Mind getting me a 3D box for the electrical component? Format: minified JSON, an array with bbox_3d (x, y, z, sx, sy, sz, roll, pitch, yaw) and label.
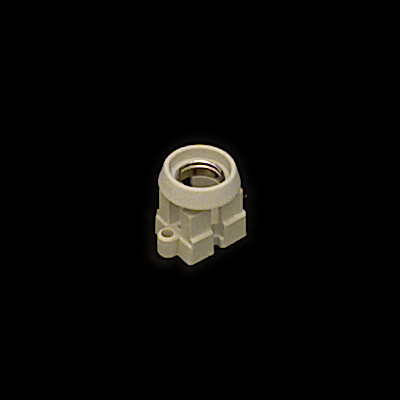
[{"bbox_3d":[0.000,0.000,0.641,0.067,0.056,0.048,-28,52,-28],"label":"electrical component"}]
